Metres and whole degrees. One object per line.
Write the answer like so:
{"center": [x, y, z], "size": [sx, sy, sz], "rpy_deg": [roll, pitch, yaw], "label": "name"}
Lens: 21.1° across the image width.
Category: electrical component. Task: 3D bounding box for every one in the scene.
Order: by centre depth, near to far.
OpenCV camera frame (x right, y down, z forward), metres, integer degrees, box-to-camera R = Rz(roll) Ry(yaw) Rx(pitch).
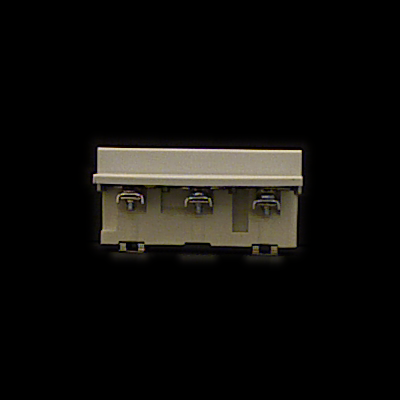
{"center": [0.000, 0.000, 0.661], "size": [0.121, 0.063, 0.078], "rpy_deg": [1, 2, 3], "label": "electrical component"}
